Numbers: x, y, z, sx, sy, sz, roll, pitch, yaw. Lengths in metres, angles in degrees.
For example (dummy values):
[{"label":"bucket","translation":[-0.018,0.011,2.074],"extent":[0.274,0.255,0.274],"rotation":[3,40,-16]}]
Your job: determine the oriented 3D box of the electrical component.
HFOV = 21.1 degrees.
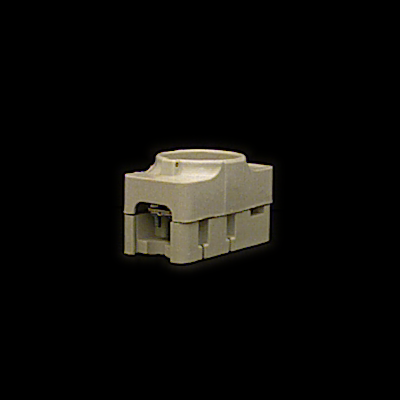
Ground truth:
[{"label":"electrical component","translation":[0.000,0.000,0.652],"extent":[0.049,0.056,0.090],"rotation":[10,14,36]}]
